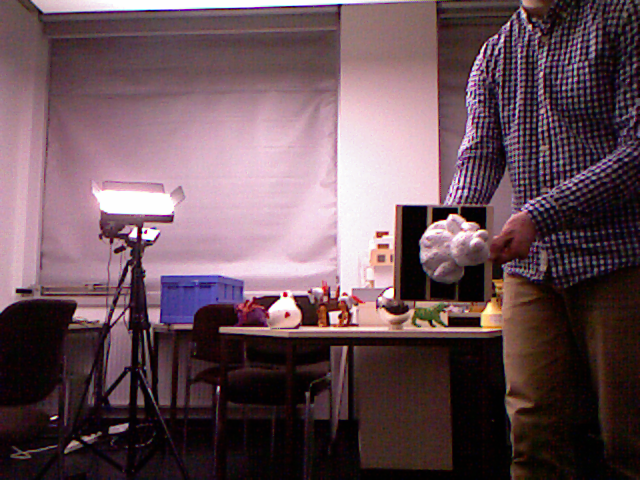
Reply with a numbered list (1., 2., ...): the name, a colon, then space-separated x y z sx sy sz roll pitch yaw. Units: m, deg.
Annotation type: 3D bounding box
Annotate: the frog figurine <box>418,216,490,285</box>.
1. frog figurine: 0.261 0.022 1.011 0.123 0.138 0.159 18 -1 -2
